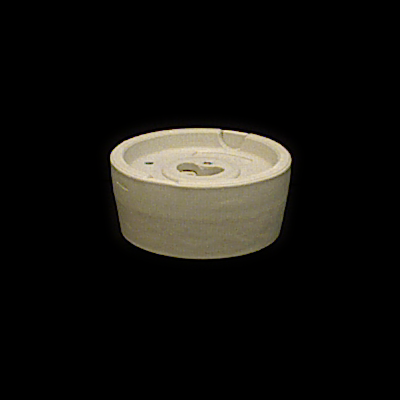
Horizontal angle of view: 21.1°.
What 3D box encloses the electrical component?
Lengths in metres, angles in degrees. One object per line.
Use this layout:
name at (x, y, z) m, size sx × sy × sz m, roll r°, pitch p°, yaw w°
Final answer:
electrical component at (0.000, 0.000, 0.650) m, size 0.108 × 0.061 × 0.106 m, roll 1°, pitch 22°, yaw 0°
